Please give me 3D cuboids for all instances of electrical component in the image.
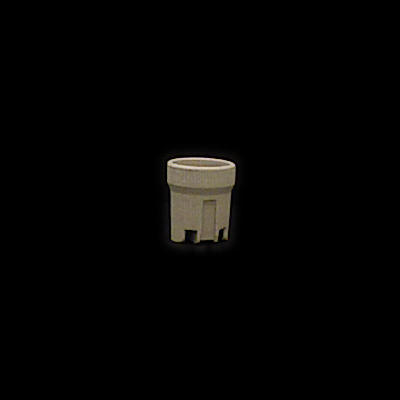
[{"bbox_3d":[0.000,0.000,0.642,0.040,0.046,0.040,1,11,0],"label":"electrical component"}]
